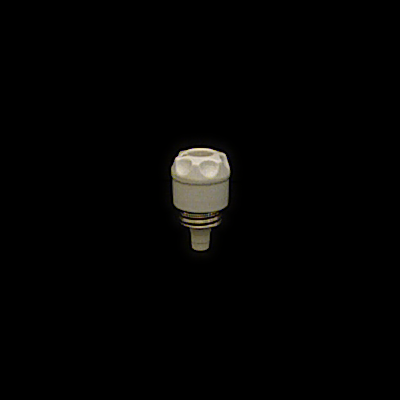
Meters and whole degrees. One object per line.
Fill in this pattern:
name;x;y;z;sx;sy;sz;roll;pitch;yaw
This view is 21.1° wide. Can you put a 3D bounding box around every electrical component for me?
electrical component;0.000;0.000;0.646;0.035;0.062;0.034;1;22;0
